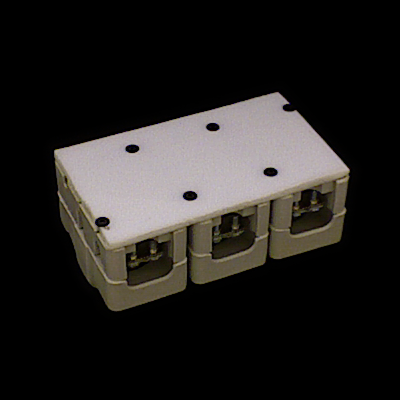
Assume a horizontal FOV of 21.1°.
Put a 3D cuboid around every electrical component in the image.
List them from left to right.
[{"bbox_3d":[0.000,0.000,0.639,0.150,0.063,0.088,-16,45,-19],"label":"electrical component"}]
